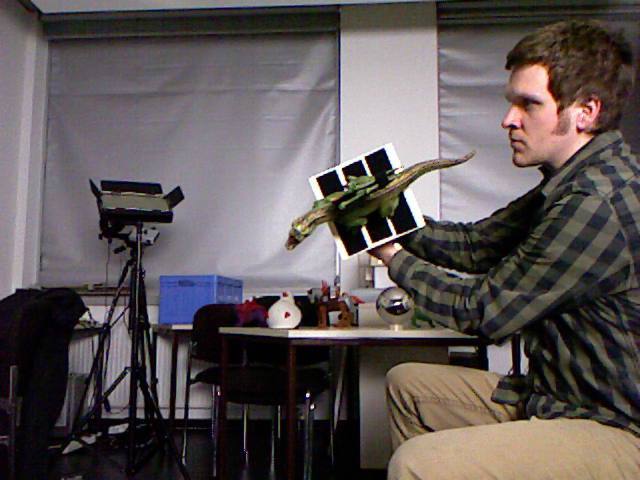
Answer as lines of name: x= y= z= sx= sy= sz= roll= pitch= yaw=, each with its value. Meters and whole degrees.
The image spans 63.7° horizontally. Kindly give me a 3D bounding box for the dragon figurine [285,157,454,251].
dragon figurine: x=0.106 y=-0.093 z=1.049 sx=0.412 sy=0.123 sz=0.244 roll=-29 pitch=-1 yaw=2
